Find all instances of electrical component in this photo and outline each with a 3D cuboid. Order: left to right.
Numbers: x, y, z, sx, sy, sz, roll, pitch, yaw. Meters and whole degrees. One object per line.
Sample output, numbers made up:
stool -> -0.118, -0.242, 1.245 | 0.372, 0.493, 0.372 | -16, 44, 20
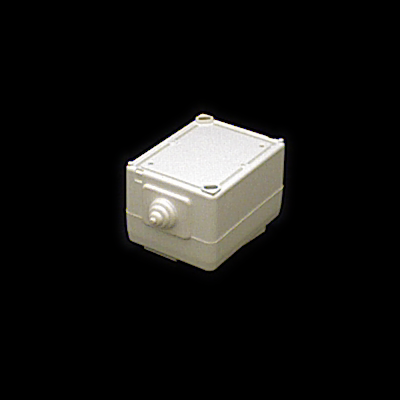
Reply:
electrical component -> 0.000, 0.000, 0.628 | 0.061, 0.061, 0.096 | 20, 36, 27
